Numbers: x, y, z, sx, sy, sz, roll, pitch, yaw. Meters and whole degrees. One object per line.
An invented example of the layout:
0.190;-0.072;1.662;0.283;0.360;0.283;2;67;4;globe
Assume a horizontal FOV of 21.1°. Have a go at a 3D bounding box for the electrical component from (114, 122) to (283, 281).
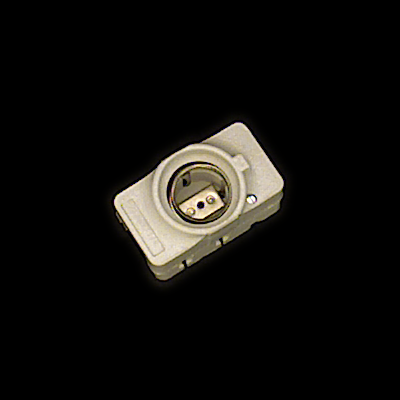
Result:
0.000;0.000;0.636;0.090;0.050;0.055;-32;-14;-9;electrical component
